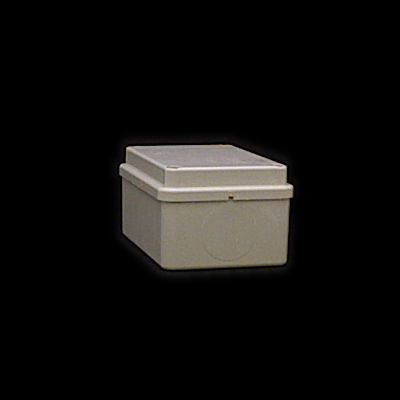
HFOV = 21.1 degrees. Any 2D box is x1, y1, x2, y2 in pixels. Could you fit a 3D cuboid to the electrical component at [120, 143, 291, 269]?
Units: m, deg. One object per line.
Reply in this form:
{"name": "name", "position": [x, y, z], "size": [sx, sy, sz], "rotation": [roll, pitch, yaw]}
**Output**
{"name": "electrical component", "position": [0.000, 0.000, 0.645], "size": [0.078, 0.057, 0.112], "rotation": [-2, 10, -17]}
